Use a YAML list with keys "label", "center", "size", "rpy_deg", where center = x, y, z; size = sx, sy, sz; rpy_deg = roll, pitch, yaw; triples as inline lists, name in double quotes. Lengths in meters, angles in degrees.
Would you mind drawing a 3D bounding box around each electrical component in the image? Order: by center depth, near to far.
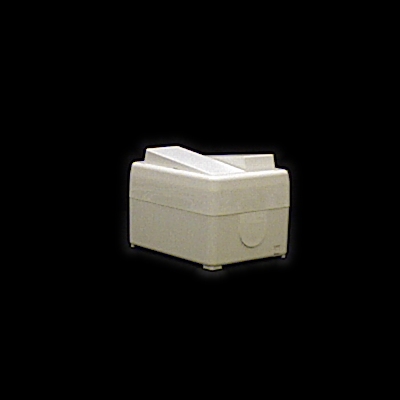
- label: "electrical component"
  center: [0.000, 0.000, 0.646]
  size: [0.062, 0.061, 0.095]
  rpy_deg: [-8, 14, -39]
